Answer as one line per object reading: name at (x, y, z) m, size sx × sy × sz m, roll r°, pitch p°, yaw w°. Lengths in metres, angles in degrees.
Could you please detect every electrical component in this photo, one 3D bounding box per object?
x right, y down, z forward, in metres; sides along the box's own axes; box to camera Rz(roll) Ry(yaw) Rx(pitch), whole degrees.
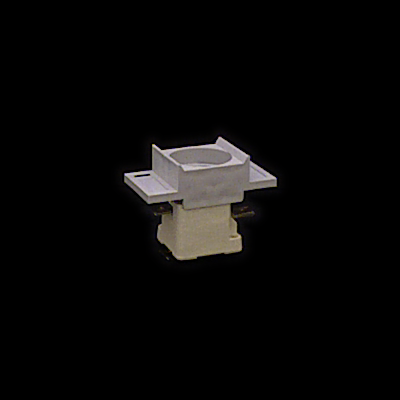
electrical component at (0.000, 0.000, 0.639) m, size 0.081 × 0.064 × 0.041 m, roll -8°, pitch 22°, yaw -21°
